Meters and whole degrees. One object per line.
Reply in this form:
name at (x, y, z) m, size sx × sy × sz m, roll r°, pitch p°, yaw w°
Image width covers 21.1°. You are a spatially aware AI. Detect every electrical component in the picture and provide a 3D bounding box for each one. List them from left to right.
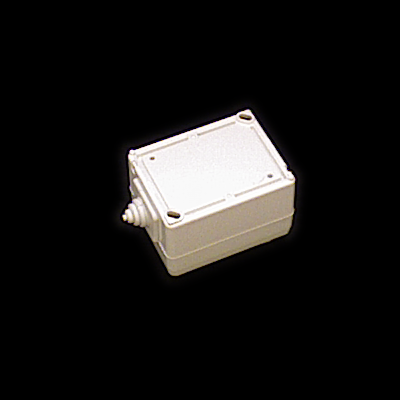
electrical component at (0.000, 0.000, 0.630) m, size 0.096 × 0.061 × 0.061 m, roll -20°, pitch -35°, yaw -15°
